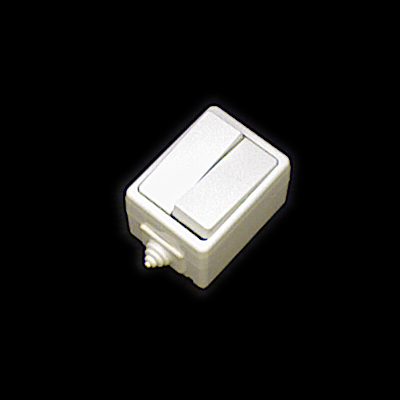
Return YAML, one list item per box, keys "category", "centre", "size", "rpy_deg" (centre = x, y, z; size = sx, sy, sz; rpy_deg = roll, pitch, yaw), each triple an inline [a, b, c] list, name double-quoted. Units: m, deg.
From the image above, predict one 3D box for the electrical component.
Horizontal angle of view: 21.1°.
- category: "electrical component"
  centre: [0.000, 0.000, 0.625]
  size: [0.061, 0.097, 0.060]
  rpy_deg: [37, -22, 18]
